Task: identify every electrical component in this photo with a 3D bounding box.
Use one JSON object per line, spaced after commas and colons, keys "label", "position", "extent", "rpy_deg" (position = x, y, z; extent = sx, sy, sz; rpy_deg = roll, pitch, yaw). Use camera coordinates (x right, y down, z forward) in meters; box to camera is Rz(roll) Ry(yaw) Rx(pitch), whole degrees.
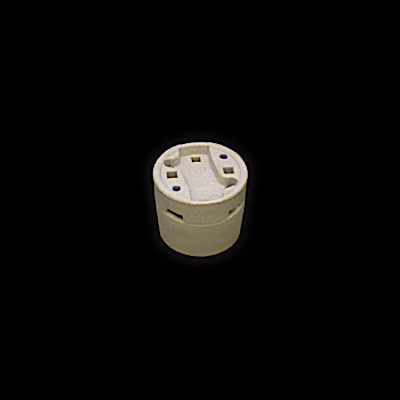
{"label": "electrical component", "position": [0.000, 0.000, 0.635], "extent": [0.055, 0.047, 0.055], "rpy_deg": [0, 42, 0]}
